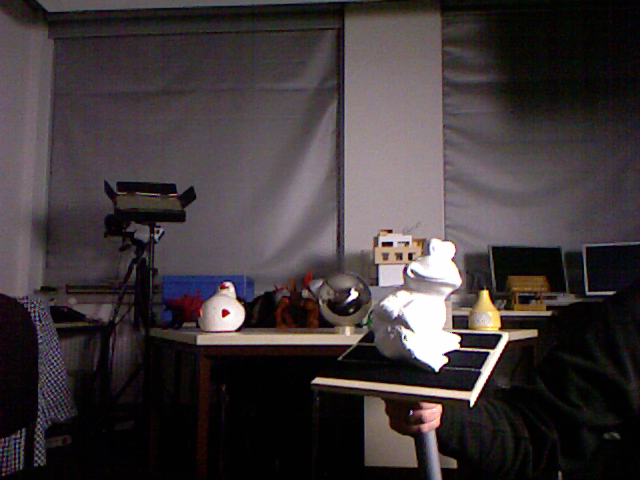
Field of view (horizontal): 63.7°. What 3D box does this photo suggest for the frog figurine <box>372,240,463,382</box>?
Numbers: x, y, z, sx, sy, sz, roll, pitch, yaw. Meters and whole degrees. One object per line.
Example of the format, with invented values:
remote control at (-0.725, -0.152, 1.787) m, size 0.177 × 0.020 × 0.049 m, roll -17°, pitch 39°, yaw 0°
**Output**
frog figurine at (0.125, 0.080, 0.670) m, size 0.138 × 0.158 × 0.123 m, roll -14°, pitch 11°, yaw -39°
